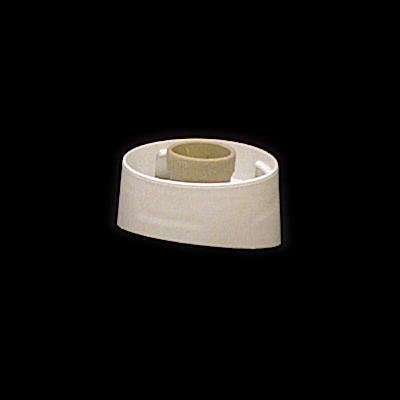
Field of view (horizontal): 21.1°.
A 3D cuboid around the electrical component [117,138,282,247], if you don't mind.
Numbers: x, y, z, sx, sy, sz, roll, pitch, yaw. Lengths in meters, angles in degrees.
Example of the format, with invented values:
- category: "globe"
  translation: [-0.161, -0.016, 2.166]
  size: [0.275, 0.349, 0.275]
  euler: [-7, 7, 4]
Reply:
- category: "electrical component"
  translation: [0.000, 0.000, 0.637]
  size: [0.099, 0.065, 0.097]
  euler: [1, 20, 0]
